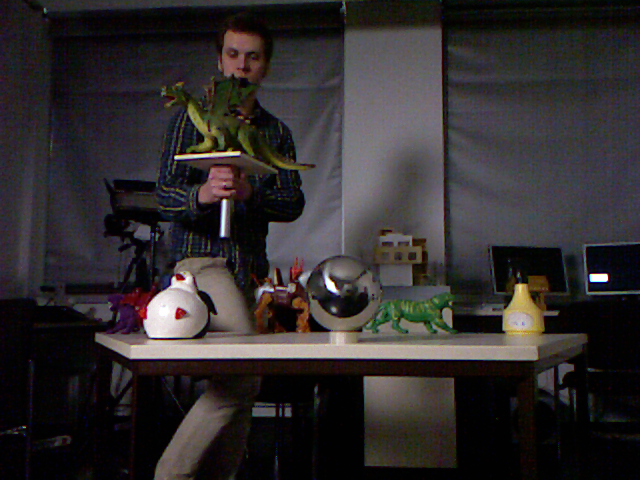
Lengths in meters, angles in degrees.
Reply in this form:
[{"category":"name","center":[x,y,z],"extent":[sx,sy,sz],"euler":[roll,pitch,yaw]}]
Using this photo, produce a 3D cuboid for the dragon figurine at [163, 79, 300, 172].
[{"category":"dragon figurine","center":[-0.236,-0.333,1.443],"extent":[0.410,0.243,0.122],"euler":[6,0,-27]}]
